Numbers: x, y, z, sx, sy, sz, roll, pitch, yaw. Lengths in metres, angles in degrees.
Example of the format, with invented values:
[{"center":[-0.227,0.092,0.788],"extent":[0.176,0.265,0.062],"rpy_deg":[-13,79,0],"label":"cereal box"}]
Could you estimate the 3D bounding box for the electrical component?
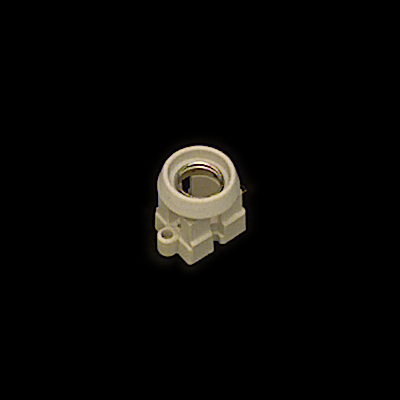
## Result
[{"center":[0.000,0.000,0.639],"extent":[0.067,0.048,0.056],"rpy_deg":[-33,-28,-23],"label":"electrical component"}]
